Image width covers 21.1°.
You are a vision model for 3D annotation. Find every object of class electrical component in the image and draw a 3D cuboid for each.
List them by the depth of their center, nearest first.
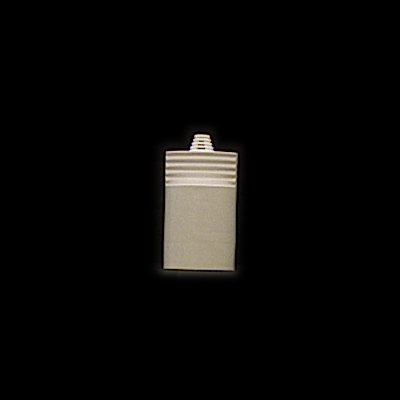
[{"bbox_3d":[0.000,0.000,0.650,0.043,0.081,0.043,1,1,0],"label":"electrical component"}]
